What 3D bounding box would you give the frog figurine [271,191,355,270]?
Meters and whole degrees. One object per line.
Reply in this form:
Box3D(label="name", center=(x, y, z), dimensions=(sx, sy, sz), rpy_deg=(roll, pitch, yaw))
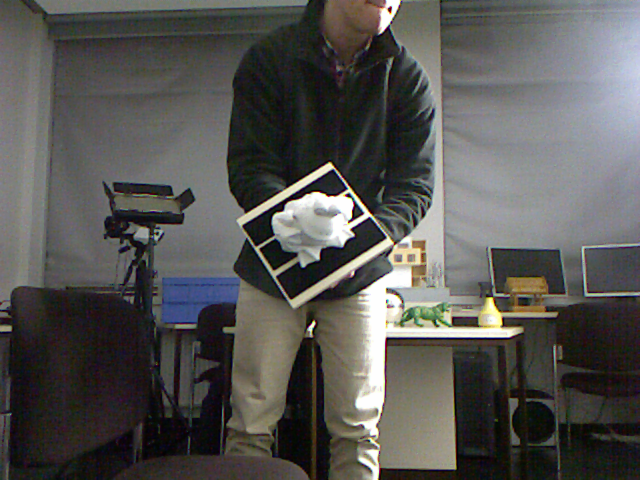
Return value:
Box3D(label="frog figurine", center=(-0.013, -0.037, 0.820), dimensions=(0.137, 0.125, 0.156), rpy_deg=(-13, -26, 1))
